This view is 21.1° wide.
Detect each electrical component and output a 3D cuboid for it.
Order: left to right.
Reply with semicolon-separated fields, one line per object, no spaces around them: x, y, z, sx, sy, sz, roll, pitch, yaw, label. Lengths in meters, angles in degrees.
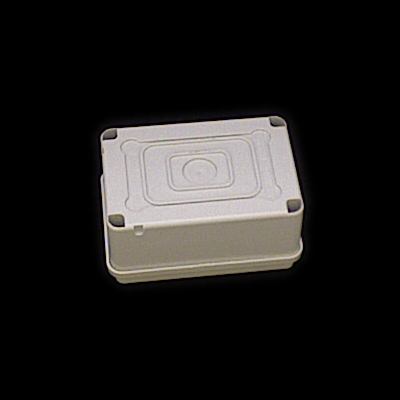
0.000;0.000;0.630;0.113;0.078;0.057;-4;-38;-5;electrical component
